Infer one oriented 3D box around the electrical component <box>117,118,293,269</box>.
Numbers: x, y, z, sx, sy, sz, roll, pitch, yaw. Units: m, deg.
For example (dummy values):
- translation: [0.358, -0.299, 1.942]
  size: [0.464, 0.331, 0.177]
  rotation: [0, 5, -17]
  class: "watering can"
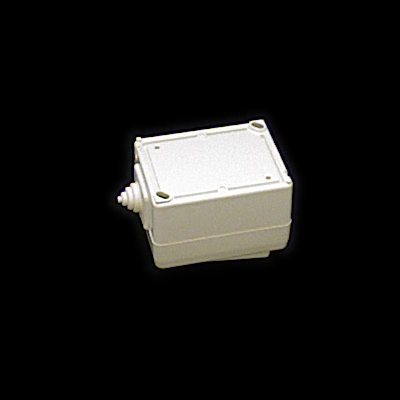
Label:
- translation: [0.000, 0.000, 0.627]
  size: [0.096, 0.061, 0.061]
  rotation: [-9, 43, -11]
  class: "electrical component"
